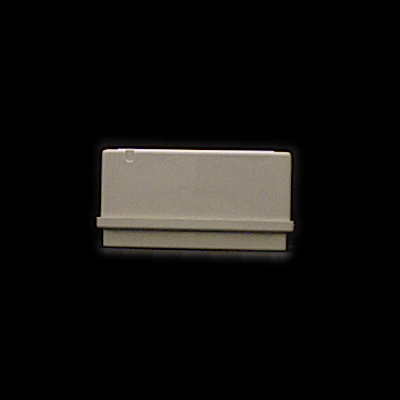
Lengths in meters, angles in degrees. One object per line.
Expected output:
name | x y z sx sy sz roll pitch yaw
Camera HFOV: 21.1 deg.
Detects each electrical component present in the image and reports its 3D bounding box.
electrical component | 0.000 0.000 0.650 0.113 0.057 0.078 2 0 5
